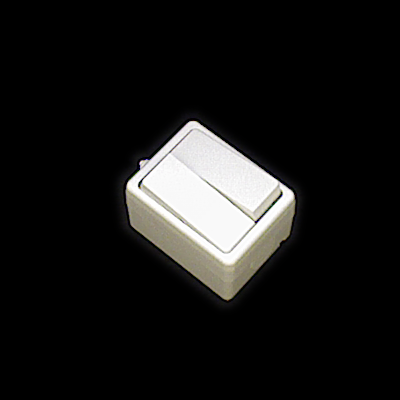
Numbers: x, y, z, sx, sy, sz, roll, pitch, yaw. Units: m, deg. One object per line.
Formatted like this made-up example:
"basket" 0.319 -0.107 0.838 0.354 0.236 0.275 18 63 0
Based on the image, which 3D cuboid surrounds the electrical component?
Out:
"electrical component" 0.000 0.000 0.627 0.096 0.062 0.061 38 -22 18
